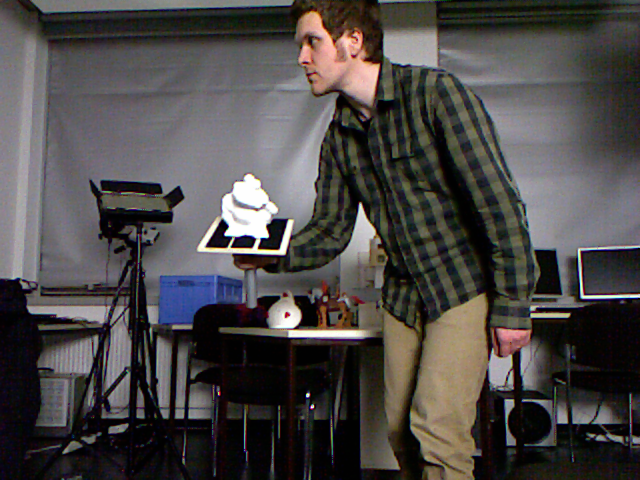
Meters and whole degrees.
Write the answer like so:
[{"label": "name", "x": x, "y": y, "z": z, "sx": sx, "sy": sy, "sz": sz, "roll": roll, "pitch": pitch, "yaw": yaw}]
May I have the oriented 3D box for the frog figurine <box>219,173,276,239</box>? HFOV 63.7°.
[{"label": "frog figurine", "x": -0.176, "y": -0.091, "z": 1.236, "sx": 0.138, "sy": 0.157, "sz": 0.125, "roll": 11, "pitch": 26, "yaw": 18}]
